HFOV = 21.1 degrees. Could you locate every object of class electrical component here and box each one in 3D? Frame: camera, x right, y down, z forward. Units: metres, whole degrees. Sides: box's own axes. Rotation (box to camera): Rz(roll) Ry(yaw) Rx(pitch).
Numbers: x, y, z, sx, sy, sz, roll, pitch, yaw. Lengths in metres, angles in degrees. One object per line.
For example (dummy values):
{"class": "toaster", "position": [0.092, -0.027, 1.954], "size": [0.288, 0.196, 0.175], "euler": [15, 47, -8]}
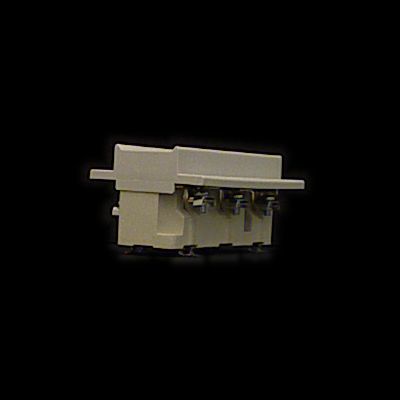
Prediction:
{"class": "electrical component", "position": [0.000, 0.000, 0.663], "size": [0.078, 0.063, 0.122], "euler": [3, 2, 33]}
